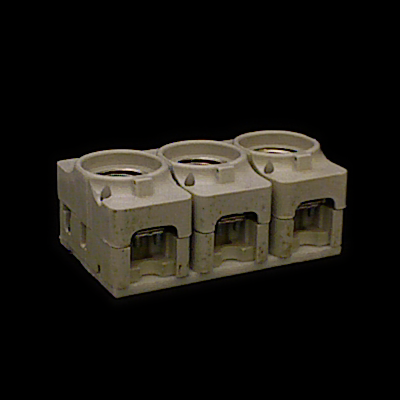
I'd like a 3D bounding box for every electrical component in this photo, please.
[{"bbox_3d":[0.000,0.000,0.644,0.150,0.063,0.088,-10,24,-26],"label":"electrical component"}]
